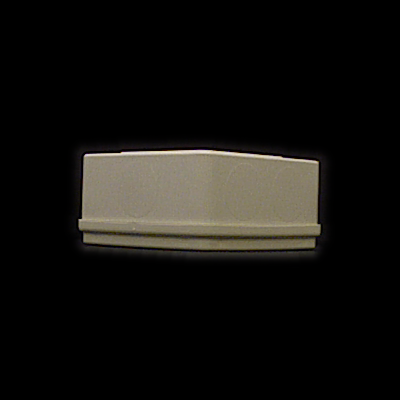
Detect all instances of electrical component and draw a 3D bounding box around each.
[{"bbox_3d":[0.000,0.000,0.651,0.108,0.056,0.109,2,0,43],"label":"electrical component"}]
